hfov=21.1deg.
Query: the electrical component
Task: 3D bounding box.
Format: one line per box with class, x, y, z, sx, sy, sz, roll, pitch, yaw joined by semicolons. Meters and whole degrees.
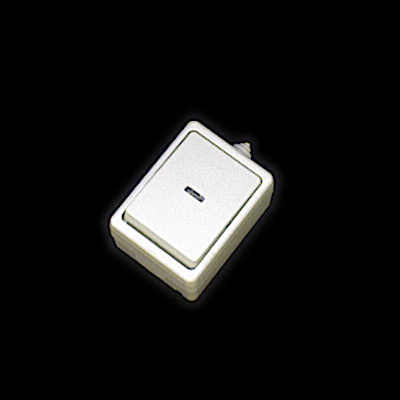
electrical component;0.000;0.000;0.626;0.062;0.096;0.060;36;-14;10
